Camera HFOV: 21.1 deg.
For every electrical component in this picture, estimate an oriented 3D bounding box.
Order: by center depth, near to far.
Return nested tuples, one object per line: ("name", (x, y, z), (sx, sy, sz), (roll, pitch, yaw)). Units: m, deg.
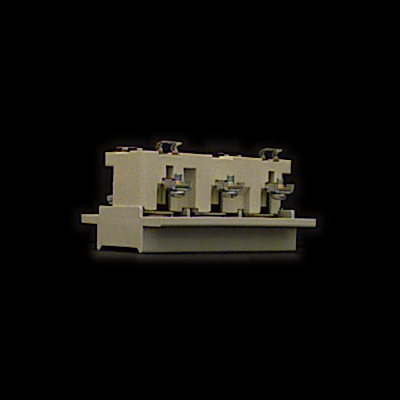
("electrical component", (0.000, 0.000, 0.659), (0.123, 0.063, 0.078), (1, 0, -40))
